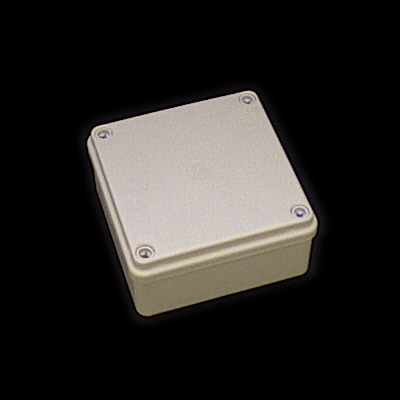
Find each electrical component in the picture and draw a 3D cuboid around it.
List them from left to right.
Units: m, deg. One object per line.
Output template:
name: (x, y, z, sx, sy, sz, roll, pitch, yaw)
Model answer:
electrical component: (0.000, 0.000, 0.629, 0.109, 0.108, 0.056, -14, -36, -11)
